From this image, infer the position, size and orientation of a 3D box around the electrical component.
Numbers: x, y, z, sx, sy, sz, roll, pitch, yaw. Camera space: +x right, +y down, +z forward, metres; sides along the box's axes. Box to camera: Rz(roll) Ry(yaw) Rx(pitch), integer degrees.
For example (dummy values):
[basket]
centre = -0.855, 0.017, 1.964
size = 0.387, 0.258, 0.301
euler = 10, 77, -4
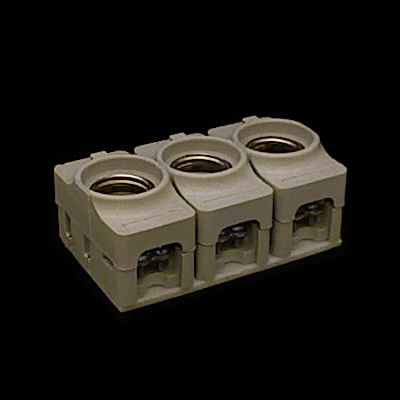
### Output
[electrical component]
centre = 0.000, 0.000, 0.641
size = 0.150, 0.063, 0.088
euler = -15, 34, -26
